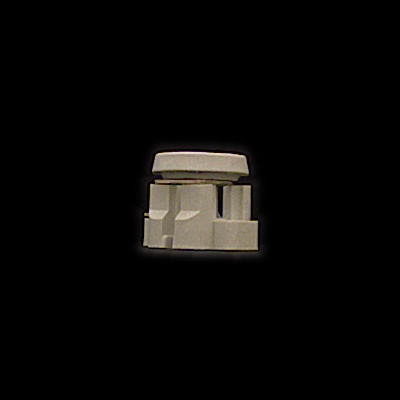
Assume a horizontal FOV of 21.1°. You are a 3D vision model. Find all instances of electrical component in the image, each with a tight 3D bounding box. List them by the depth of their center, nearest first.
[{"bbox_3d":[0.000,0.000,0.650,0.078,0.057,0.058,2,1,44],"label":"electrical component"}]
